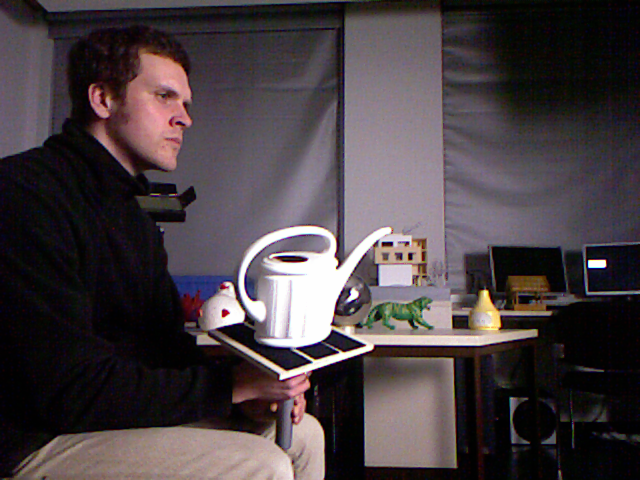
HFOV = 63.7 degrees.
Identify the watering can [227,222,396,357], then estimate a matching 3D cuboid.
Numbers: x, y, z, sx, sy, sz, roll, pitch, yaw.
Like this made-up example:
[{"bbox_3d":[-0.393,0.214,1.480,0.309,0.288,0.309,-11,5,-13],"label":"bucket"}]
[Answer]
[{"bbox_3d":[-0.003,0.076,0.881,0.349,0.222,0.105,-7,20,-38],"label":"watering can"}]
